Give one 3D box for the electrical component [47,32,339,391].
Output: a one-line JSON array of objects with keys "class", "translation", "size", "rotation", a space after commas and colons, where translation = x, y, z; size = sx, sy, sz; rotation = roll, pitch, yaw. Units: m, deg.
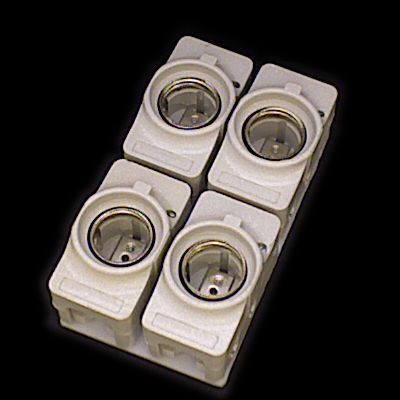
[{"class": "electrical component", "translation": [0.000, 0.000, 0.626], "size": [0.105, 0.187, 0.060], "rotation": [21, -26, 10]}]
